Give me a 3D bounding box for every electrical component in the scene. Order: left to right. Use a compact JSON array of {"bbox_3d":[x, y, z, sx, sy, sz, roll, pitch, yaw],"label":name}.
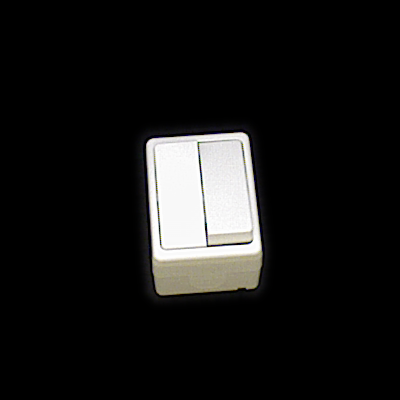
[{"bbox_3d":[0.000,0.000,0.628,0.062,0.096,0.061,-4,-27,-2],"label":"electrical component"}]
